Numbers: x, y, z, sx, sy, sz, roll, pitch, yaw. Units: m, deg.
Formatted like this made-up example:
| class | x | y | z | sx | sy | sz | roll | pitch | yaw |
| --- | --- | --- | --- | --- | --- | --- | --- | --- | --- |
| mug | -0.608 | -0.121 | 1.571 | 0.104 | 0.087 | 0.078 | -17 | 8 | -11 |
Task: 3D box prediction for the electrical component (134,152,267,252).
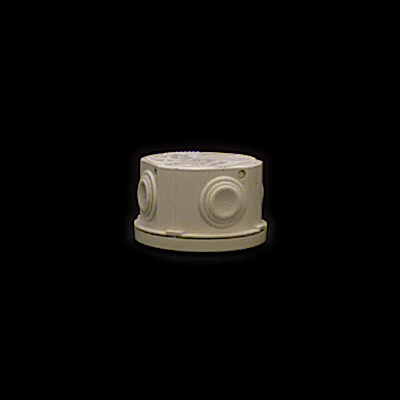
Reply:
| class | x | y | z | sx | sy | sz | roll | pitch | yaw |
| --- | --- | --- | --- | --- | --- | --- | --- | --- | --- |
| electrical component | 0.000 | 0.000 | 0.645 | 0.080 | 0.051 | 0.079 | 1 | 10 | 0 |
